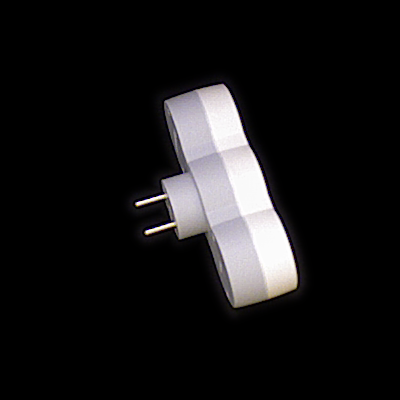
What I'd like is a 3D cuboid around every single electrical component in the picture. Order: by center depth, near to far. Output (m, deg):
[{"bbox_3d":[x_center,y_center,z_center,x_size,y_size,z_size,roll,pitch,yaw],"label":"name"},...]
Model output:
[{"bbox_3d":[0.000,0.000,0.629,0.074,0.138,0.052,-17,-25,-7],"label":"electrical component"}]
